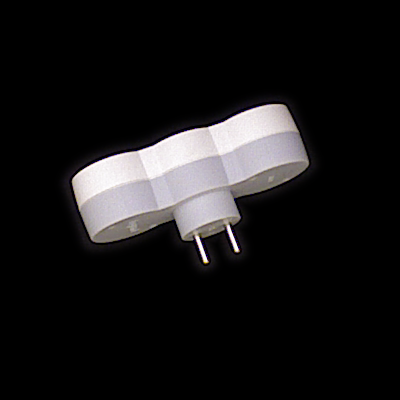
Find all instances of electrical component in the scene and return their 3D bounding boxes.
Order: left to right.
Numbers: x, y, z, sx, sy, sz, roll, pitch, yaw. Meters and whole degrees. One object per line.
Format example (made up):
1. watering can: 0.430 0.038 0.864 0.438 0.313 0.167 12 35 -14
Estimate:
1. electrical component: 0.000 0.000 0.631 0.138 0.074 0.052 -19 -14 -6
